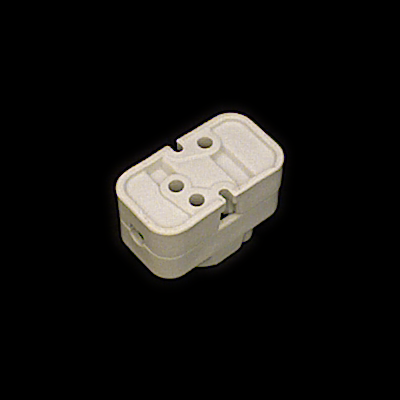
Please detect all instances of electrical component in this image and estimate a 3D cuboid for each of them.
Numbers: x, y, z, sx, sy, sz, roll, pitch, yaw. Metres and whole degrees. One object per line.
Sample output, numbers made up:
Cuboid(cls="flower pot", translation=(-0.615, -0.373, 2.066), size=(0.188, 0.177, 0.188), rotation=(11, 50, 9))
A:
Cuboid(cls="electrical component", translation=(0.000, 0.000, 0.635), size=(0.095, 0.053, 0.059), rotation=(-33, -30, -23))
